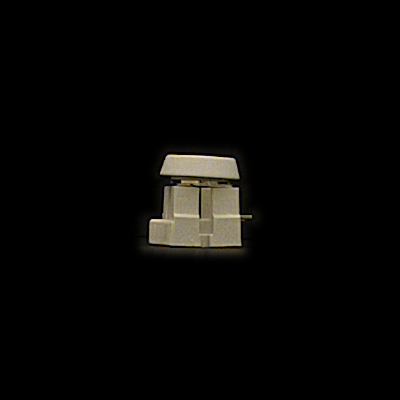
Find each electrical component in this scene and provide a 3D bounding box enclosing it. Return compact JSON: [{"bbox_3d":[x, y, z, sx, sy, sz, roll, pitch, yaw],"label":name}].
[{"bbox_3d":[0.000,0.000,0.658,0.067,0.055,0.048,1,4,-15],"label":"electrical component"}]
